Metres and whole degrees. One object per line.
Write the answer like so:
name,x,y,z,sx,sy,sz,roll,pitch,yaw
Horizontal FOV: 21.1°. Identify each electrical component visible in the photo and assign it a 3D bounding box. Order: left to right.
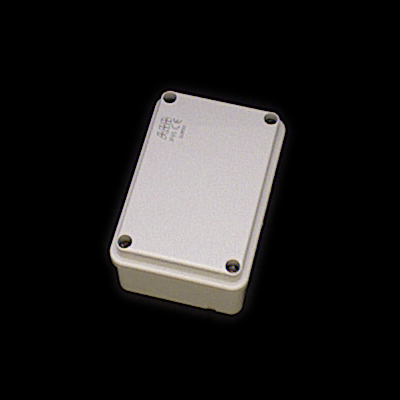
electrical component,0.000,0.000,0.627,0.078,0.113,0.057,12,-26,6
